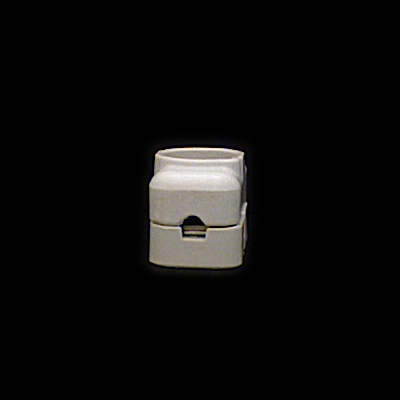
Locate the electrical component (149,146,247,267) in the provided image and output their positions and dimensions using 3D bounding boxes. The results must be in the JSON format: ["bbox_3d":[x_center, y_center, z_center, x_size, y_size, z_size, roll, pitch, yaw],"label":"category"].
[{"bbox_3d":[0.000,0.000,0.650,0.053,0.060,0.094,2,11,4],"label":"electrical component"}]
